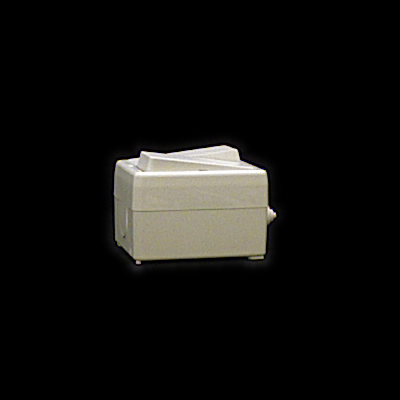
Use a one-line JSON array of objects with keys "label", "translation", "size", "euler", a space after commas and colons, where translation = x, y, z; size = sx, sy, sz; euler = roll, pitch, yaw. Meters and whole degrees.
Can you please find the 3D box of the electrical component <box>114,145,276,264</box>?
[{"label": "electrical component", "translation": [0.000, 0.000, 0.645], "size": [0.096, 0.061, 0.061], "euler": [-2, 11, -15]}]
